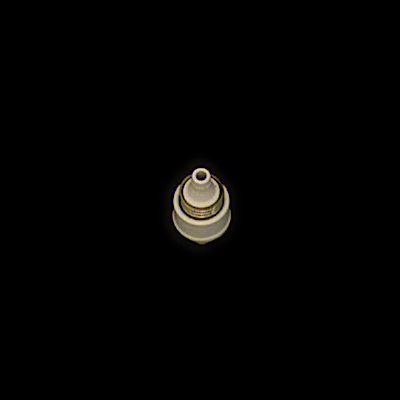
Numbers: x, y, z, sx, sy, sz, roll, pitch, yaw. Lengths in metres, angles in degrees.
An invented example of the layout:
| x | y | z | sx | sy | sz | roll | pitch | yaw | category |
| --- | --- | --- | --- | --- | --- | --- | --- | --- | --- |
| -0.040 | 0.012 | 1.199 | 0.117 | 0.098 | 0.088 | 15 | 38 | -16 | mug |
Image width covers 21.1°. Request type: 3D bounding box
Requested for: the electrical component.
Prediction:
| x | y | z | sx | sy | sz | roll | pitch | yaw | category |
| --- | --- | --- | --- | --- | --- | --- | --- | --- | --- |
| 0.000 | 0.000 | 0.637 | 0.035 | 0.035 | 0.061 | 0 | -28 | 0 | electrical component |
